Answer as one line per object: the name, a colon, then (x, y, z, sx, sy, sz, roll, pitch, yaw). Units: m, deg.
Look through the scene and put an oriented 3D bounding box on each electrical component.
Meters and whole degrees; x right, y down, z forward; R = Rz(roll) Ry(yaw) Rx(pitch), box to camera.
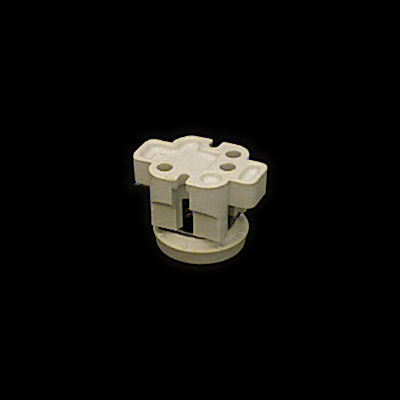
electrical component: (0.000, 0.000, 0.642, 0.078, 0.057, 0.057, 12, 35, 20)
